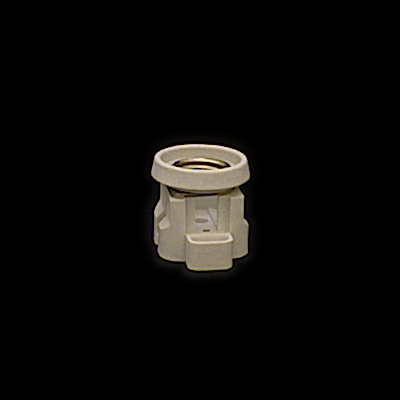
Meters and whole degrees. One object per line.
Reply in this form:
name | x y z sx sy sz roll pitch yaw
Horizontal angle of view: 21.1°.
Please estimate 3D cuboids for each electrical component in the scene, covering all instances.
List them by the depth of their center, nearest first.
electrical component | 0.000 0.000 0.640 0.058 0.057 0.077 -3 21 -10
